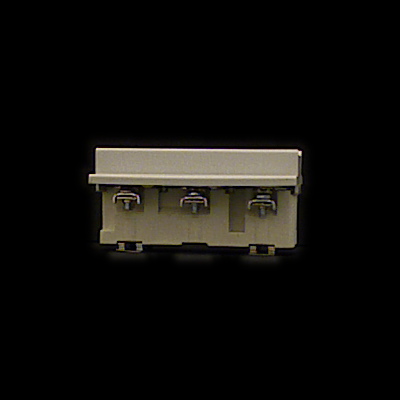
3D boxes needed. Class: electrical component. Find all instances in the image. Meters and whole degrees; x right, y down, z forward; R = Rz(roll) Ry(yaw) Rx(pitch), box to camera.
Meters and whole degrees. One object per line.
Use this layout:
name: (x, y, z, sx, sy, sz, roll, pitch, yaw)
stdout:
electrical component: (0.000, 0.000, 0.661, 0.121, 0.063, 0.078, 1, 2, 8)
